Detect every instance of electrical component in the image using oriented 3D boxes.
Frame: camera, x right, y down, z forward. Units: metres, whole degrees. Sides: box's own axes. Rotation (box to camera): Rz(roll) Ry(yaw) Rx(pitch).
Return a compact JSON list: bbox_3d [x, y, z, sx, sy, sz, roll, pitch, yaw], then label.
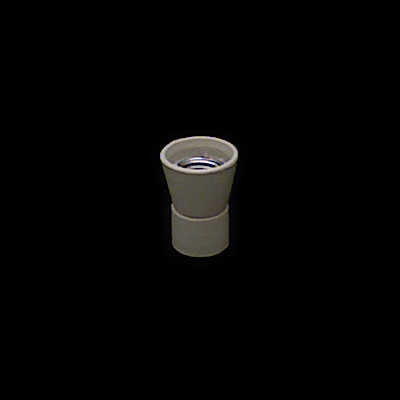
[{"bbox_3d":[0.000,0.000,0.633,0.044,0.066,0.044,0,31,0],"label":"electrical component"}]
